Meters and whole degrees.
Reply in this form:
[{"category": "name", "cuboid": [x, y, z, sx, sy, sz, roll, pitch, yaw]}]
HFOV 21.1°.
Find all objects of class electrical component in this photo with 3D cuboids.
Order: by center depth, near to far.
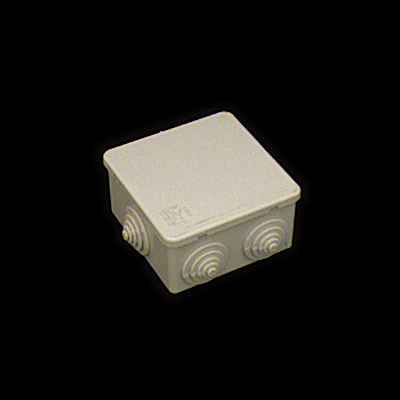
[{"category": "electrical component", "cuboid": [0.000, 0.000, 0.641, 0.100, 0.049, 0.098, -20, 47, -22]}]
